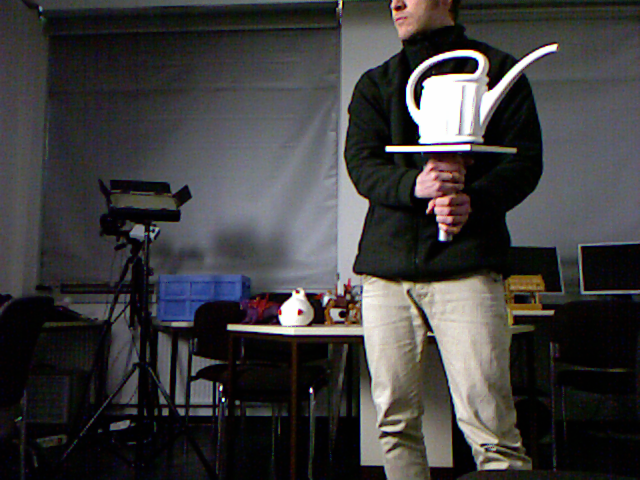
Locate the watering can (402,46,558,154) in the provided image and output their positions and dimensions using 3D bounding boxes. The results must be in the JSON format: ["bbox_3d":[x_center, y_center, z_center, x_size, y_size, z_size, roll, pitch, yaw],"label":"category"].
[{"bbox_3d":[0.320,-0.294,1.095,0.349,0.223,0.105,9,15,44],"label":"watering can"}]
